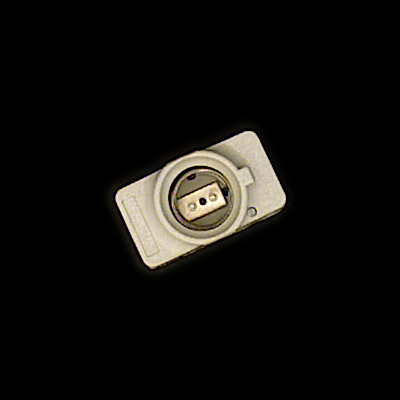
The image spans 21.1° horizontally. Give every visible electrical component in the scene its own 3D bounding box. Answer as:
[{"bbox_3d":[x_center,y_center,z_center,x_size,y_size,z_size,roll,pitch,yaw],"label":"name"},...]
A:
[{"bbox_3d":[0.000,0.000,0.637,0.090,0.050,0.055,-25,-5,-2],"label":"electrical component"}]
